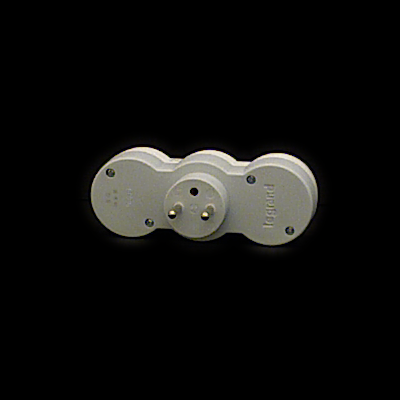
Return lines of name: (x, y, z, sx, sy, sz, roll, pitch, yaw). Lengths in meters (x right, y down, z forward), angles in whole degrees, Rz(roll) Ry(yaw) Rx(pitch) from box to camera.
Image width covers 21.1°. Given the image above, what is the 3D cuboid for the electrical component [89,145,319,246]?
electrical component: (0.000, 0.000, 0.648, 0.137, 0.052, 0.073, 3, 13, 9)
